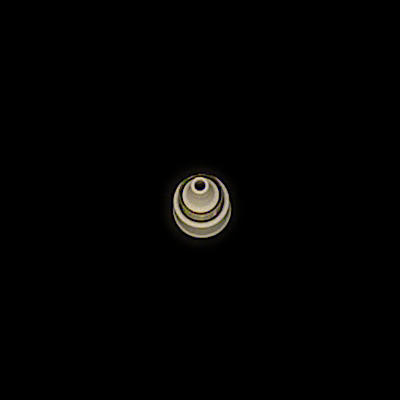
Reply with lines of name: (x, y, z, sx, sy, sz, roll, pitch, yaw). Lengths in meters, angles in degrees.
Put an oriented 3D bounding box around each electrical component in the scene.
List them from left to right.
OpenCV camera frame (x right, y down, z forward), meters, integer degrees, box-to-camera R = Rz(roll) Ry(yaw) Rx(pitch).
electrical component: (0.000, 0.000, 0.636, 0.035, 0.035, 0.061, 0, -18, 1)
